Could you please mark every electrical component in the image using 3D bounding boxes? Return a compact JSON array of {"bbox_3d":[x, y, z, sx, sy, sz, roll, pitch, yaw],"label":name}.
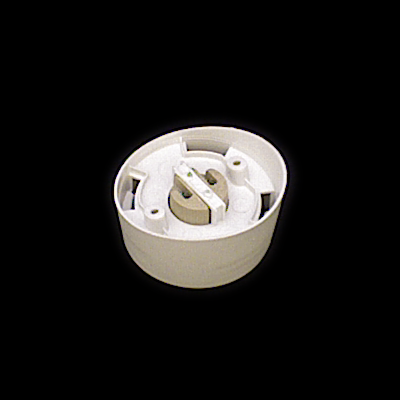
[{"bbox_3d":[0.000,0.000,0.626,0.099,0.098,0.064,0,-37,-2],"label":"electrical component"}]
